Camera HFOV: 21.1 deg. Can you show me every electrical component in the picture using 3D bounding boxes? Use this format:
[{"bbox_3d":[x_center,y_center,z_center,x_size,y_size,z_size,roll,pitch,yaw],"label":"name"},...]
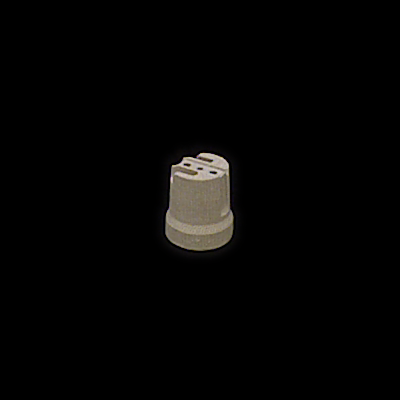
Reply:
[{"bbox_3d":[0.000,0.000,0.639,0.040,0.046,0.040,1,32,-1],"label":"electrical component"}]
